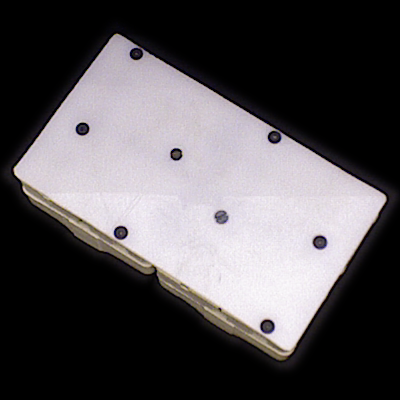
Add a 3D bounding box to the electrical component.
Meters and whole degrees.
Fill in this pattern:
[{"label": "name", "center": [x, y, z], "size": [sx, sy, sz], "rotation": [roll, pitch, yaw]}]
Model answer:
[{"label": "electrical component", "center": [0.000, 0.000, 0.625], "size": [0.186, 0.106, 0.060], "rotation": [32, -14, 9]}]
